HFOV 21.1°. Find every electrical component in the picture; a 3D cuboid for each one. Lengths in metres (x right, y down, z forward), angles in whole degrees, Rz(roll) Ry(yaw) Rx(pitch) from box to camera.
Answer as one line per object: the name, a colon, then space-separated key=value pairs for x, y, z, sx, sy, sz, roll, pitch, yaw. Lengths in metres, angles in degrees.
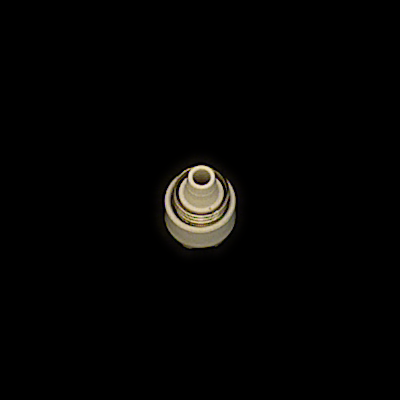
electrical component: x=0.000 y=0.000 z=0.634 sx=0.043 sy=0.043 sz=0.062 roll=0 pitch=-26 yaw=-1
